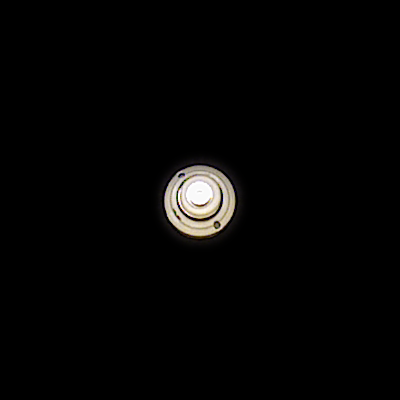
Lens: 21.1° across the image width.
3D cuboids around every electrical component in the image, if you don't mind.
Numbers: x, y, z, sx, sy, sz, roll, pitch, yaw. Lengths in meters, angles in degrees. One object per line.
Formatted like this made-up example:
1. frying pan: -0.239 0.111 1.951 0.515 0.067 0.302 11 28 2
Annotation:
1. electrical component: 0.000 0.000 0.618 0.040 0.040 0.078 0 -5 -1
